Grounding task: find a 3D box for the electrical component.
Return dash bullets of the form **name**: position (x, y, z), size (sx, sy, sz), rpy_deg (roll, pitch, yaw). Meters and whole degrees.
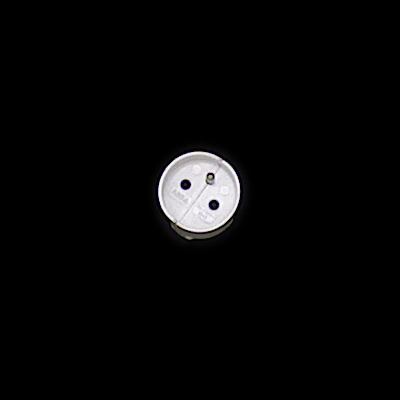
- **electrical component**: position (0.000, 0.000, 0.616), size (0.043, 0.043, 0.080), rpy_deg (0, -6, -1)
